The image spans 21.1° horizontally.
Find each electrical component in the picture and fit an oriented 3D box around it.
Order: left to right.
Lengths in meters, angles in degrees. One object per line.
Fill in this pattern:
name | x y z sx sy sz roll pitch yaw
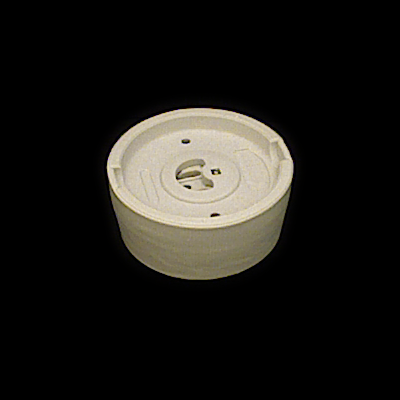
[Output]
electrical component | 0.000 0.000 0.640 0.108 0.061 0.106 0 43 0
